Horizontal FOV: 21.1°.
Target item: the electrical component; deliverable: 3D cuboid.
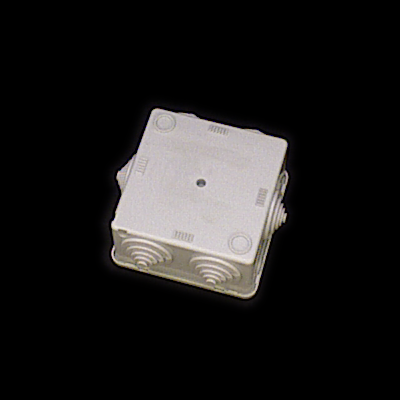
[{"bbox_3d":[0.000,0.000,0.631,0.099,0.100,0.048,14,-26,7],"label":"electrical component"}]
